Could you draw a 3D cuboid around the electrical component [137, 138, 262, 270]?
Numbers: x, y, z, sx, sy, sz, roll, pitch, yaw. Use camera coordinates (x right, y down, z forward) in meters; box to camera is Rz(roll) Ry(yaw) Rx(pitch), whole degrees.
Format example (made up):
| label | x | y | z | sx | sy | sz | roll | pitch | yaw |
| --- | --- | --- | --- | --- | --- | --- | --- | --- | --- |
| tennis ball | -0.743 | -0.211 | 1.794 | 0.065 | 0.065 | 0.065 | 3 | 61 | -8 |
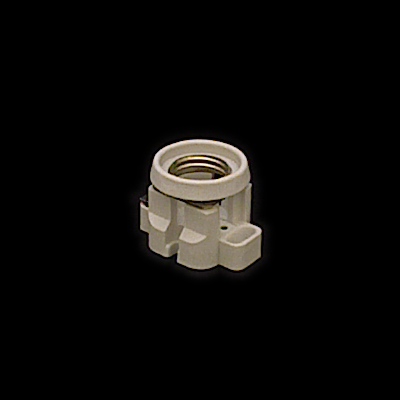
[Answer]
| label | x | y | z | sx | sy | sz | roll | pitch | yaw |
| --- | --- | --- | --- | --- | --- | --- | --- | --- | --- |
| electrical component | 0.000 | 0.000 | 0.635 | 0.078 | 0.057 | 0.057 | 23 | 38 | 31 |
